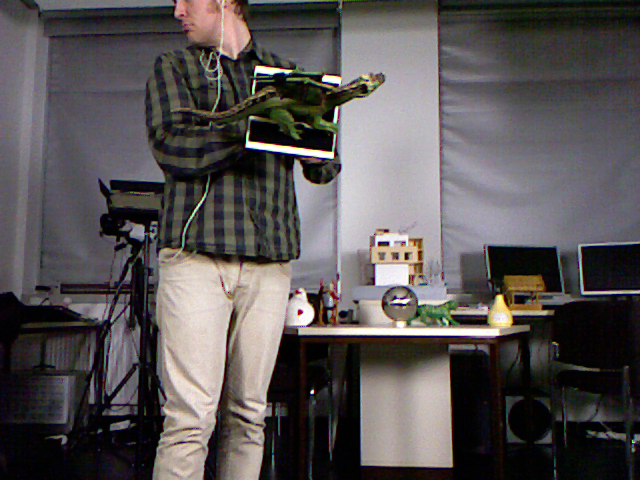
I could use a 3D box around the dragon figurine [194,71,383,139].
[{"bbox_3d":[-0.070,-0.307,1.091,0.412,0.123,0.241,-7,-8,-7],"label":"dragon figurine"}]
